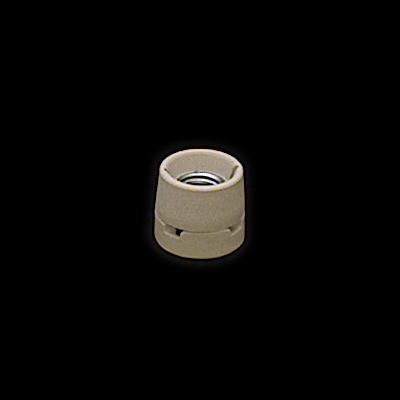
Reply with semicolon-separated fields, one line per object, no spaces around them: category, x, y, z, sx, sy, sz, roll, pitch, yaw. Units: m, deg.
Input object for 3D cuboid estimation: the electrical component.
electrical component;0.000;0.000;0.638;0.055;0.047;0.055;2;32;-1
